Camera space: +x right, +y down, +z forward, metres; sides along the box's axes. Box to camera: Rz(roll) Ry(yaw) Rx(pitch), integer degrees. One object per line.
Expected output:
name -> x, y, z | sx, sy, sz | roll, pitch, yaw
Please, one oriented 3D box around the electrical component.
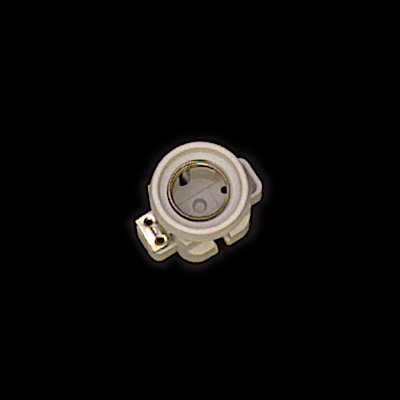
electrical component -> 0.000, 0.000, 0.628 | 0.079, 0.058, 0.056 | -31, -14, -9
